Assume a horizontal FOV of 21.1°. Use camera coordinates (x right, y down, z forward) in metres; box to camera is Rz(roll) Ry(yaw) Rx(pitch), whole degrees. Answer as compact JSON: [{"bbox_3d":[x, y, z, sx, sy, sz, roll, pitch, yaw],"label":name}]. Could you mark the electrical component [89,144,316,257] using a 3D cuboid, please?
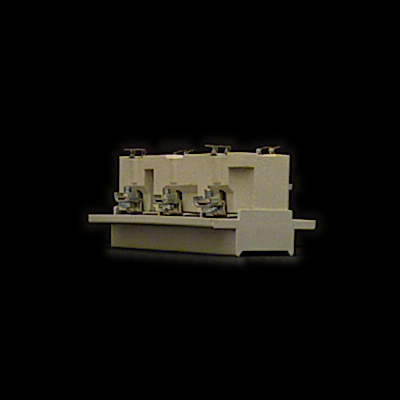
[{"bbox_3d":[0.000,0.000,0.654,0.079,0.063,0.120,0,1,-40],"label":"electrical component"}]
